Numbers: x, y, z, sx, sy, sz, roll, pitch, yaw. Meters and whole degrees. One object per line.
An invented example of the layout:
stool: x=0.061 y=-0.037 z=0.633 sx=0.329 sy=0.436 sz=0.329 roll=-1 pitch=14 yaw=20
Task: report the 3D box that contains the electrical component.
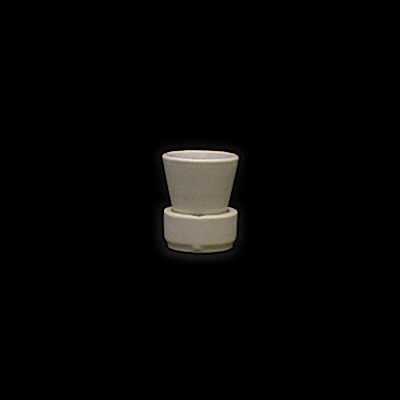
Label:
electrical component: x=0.000 y=0.000 z=0.643 sx=0.045 sy=0.055 sz=0.044 roll=1 pitch=11 yaw=0
